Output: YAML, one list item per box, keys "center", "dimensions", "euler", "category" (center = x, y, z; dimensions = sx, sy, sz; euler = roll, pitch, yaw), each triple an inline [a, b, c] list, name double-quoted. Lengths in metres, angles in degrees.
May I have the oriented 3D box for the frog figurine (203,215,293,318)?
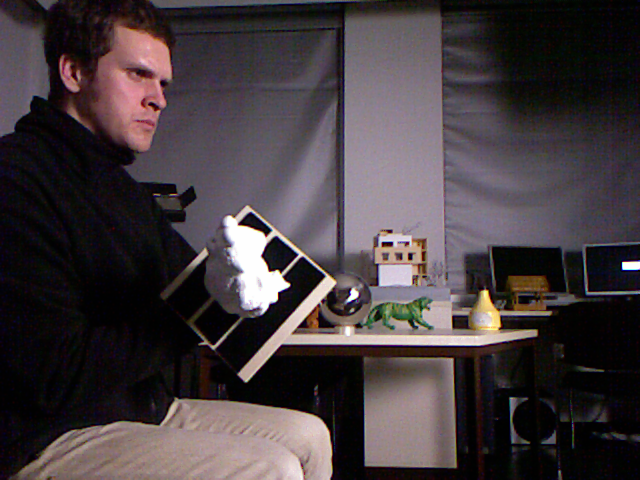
- center: [-0.121, 0.041, 0.742]
  dimensions: [0.123, 0.140, 0.158]
  euler: [-30, -21, 1]
  category: "frog figurine"
